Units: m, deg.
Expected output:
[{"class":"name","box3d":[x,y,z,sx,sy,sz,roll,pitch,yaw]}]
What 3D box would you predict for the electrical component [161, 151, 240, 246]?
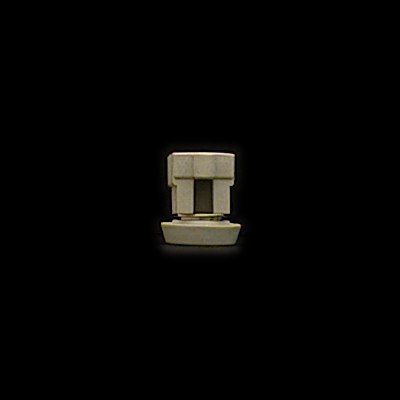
[{"class":"electrical component","box3d":[0.000,0.000,0.655,0.048,0.055,0.066,0,1,-6]}]
